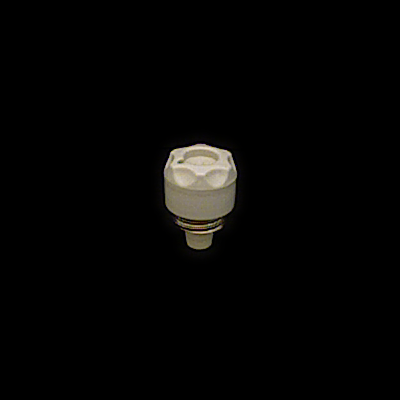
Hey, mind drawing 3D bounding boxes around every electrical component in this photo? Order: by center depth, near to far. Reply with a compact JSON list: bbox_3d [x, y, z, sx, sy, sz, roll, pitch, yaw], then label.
[{"bbox_3d":[0.000,0.000,0.642,0.043,0.063,0.043,1,31,0],"label":"electrical component"}]
